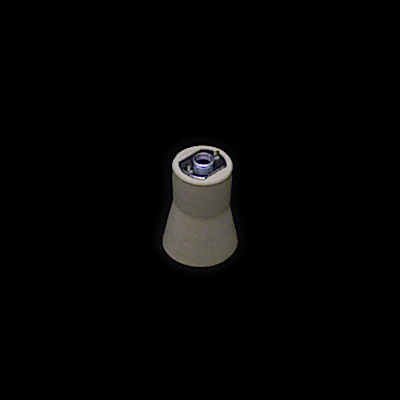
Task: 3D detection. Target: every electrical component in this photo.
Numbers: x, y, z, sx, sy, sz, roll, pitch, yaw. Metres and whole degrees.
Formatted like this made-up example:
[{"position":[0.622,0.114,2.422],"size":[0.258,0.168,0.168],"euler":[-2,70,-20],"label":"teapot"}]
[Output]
[{"position":[0.000,0.000,0.628],"size":[0.044,0.066,0.044],"euler":[1,42,-1],"label":"electrical component"}]
